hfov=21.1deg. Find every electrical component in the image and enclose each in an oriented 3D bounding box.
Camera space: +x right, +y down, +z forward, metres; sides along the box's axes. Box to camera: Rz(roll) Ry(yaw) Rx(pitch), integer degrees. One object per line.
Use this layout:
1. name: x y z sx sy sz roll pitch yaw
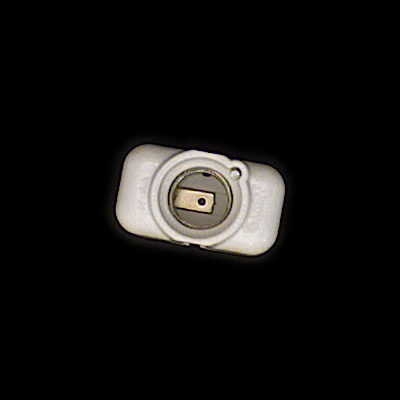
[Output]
1. electrical component: 0.000 0.000 0.635 0.095 0.054 0.059 10 -5 1
